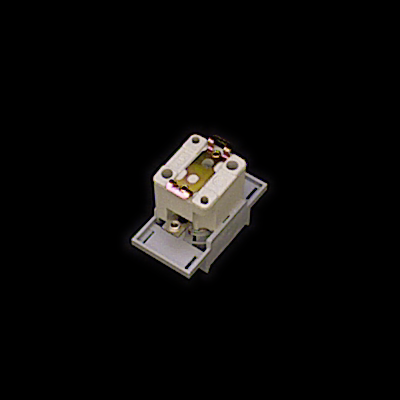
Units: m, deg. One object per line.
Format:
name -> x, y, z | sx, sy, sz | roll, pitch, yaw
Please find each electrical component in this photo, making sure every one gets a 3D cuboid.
electrical component -> 0.000, 0.000, 0.626 | 0.042, 0.081, 0.064 | 29, -32, 20
